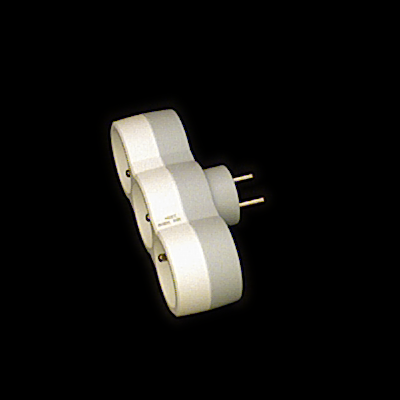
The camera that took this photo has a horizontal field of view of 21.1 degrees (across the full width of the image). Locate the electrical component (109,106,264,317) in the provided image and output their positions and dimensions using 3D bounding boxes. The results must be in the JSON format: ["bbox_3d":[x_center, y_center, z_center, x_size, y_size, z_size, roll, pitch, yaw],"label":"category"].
[{"bbox_3d":[0.000,0.000,0.638,0.074,0.137,0.052,-14,-36,-13],"label":"electrical component"}]
